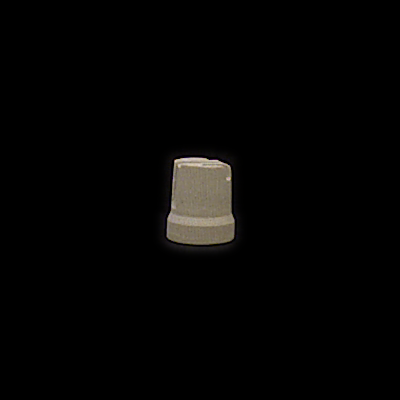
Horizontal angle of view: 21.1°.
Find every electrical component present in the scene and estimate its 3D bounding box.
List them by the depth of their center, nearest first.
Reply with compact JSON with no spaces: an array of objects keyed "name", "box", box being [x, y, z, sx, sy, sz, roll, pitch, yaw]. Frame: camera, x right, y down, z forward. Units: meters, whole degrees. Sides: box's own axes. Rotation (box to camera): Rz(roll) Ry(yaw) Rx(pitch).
[{"name":"electrical component","box":[0.000,0.000,0.645,0.040,0.046,0.040,1,12,0]}]
